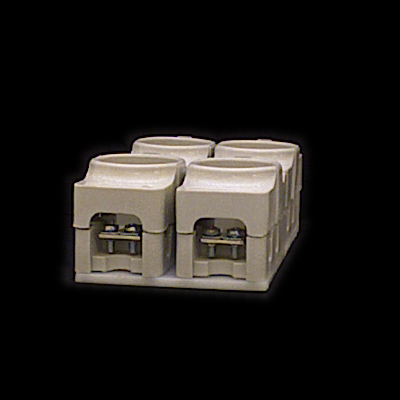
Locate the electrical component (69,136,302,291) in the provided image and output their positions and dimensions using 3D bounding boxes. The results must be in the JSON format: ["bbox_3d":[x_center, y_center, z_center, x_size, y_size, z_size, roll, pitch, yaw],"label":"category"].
[{"bbox_3d":[0.000,0.000,0.644,0.105,0.060,0.185,3,10,10],"label":"electrical component"}]
